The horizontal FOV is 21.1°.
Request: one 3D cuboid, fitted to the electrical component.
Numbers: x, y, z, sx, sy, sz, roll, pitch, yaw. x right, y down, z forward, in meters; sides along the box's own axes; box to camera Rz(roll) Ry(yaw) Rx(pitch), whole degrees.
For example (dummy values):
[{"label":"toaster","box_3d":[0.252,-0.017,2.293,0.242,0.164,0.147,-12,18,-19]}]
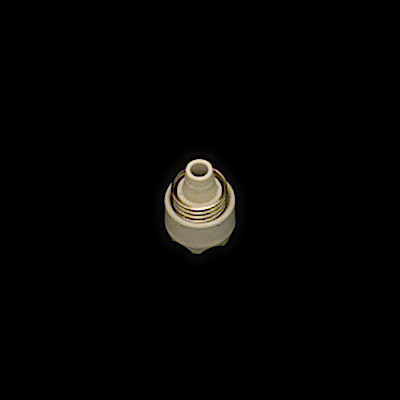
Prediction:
[{"label":"electrical component","box_3d":[0.000,0.000,0.634,0.043,0.043,0.062,0,-36,0]}]
